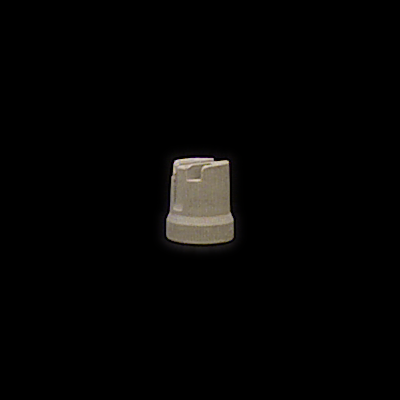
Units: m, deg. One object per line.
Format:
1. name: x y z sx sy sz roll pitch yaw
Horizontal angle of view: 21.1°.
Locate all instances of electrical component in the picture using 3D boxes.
1. electrical component: 0.000 0.000 0.645 0.040 0.046 0.040 1 11 0
